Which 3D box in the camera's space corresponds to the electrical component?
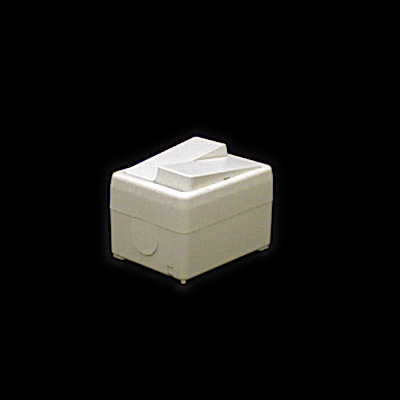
[{"bbox_3d":[0.000,0.000,0.641,0.061,0.061,0.096,19,27,39],"label":"electrical component"}]
